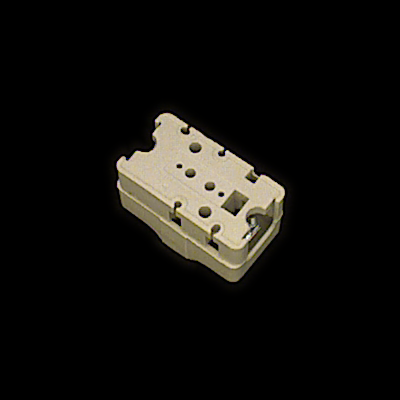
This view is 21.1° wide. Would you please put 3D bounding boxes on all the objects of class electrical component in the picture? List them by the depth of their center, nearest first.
[{"bbox_3d":[0.000,0.000,0.636,0.089,0.050,0.055,34,-22,15],"label":"electrical component"}]
